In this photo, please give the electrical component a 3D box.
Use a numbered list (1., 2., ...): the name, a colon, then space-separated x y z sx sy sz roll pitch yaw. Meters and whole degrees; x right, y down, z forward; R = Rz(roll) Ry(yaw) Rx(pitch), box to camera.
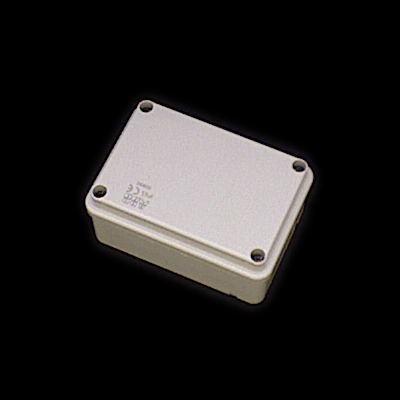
1. electrical component: 0.000 0.000 0.626 0.113 0.078 0.057 22 -25 10
